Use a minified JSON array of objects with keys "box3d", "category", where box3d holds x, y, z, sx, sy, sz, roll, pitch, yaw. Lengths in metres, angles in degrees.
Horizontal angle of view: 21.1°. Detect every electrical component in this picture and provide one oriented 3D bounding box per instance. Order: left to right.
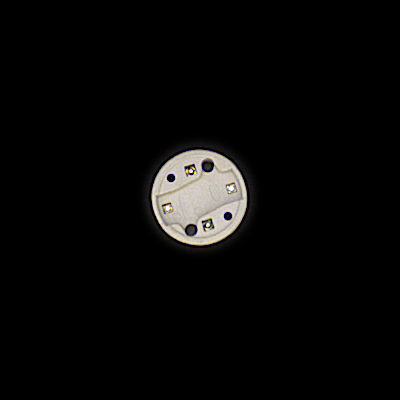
[{"box3d":[0.000,0.000,0.636,0.055,0.056,0.047,0,-7,0],"category":"electrical component"}]
